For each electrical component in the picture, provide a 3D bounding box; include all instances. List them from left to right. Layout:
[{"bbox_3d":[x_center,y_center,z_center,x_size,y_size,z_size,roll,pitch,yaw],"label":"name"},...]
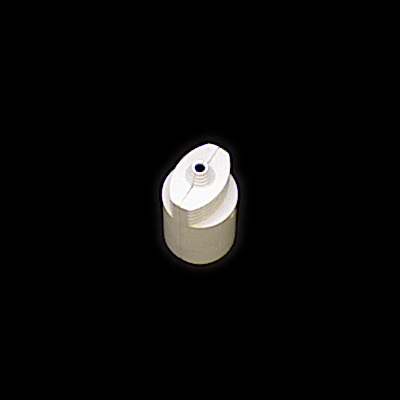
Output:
[{"bbox_3d":[0.000,0.000,0.617,0.043,0.043,0.081,0,-27,0],"label":"electrical component"}]
